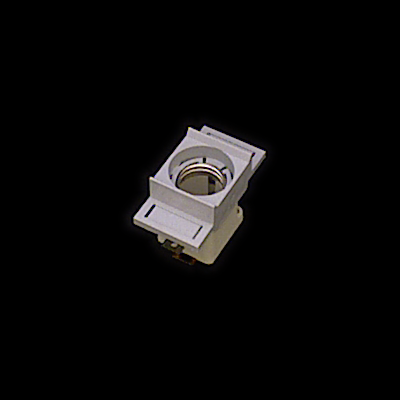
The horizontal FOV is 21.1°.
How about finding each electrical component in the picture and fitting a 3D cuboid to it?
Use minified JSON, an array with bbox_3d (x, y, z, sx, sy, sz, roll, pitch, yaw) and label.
[{"bbox_3d":[0.000,0.000,0.624,0.042,0.081,0.064,25,-34,17],"label":"electrical component"}]
